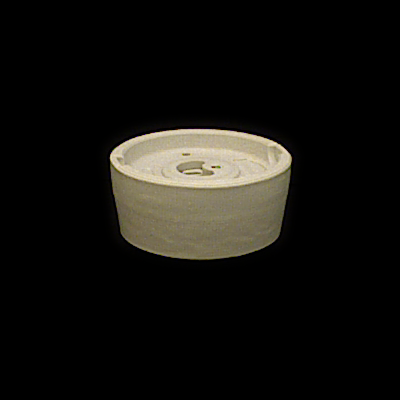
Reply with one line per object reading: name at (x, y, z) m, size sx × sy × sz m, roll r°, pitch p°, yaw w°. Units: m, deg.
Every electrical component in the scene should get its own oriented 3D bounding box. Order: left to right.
electrical component at (0.000, 0.000, 0.649) m, size 0.108 × 0.061 × 0.106 m, roll 1°, pitch 21°, yaw 0°
